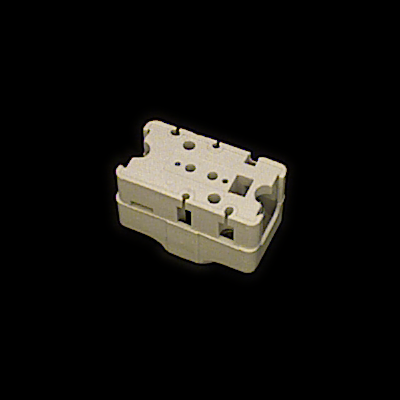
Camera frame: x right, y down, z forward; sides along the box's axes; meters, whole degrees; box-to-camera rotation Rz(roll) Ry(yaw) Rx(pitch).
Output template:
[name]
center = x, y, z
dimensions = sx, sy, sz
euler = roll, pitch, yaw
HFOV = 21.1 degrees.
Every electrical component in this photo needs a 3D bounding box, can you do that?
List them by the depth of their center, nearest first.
[electrical component]
center = 0.000, 0.000, 0.638
dimensions = 0.089, 0.050, 0.056
euler = 21, -35, 14
